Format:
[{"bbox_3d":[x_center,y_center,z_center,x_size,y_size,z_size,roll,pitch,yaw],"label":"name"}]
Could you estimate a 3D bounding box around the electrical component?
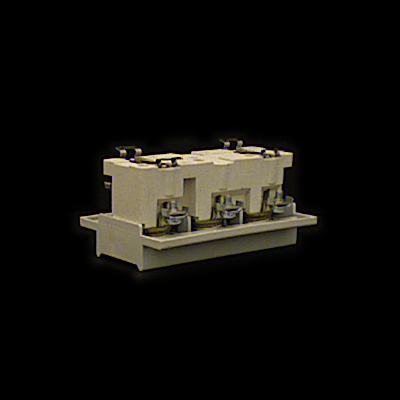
[{"bbox_3d":[0.000,0.000,0.649,0.122,0.063,0.078,-8,15,-40],"label":"electrical component"}]
